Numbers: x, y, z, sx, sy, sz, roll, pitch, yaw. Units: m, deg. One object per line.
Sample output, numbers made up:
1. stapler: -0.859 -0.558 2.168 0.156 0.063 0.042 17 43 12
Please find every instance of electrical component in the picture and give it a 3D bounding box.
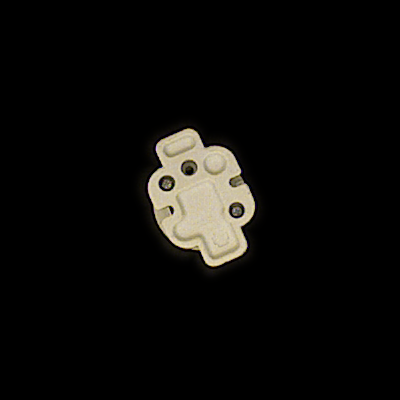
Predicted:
1. electrical component: 0.000 0.000 0.637 0.058 0.078 0.056 -25 -4 -2
